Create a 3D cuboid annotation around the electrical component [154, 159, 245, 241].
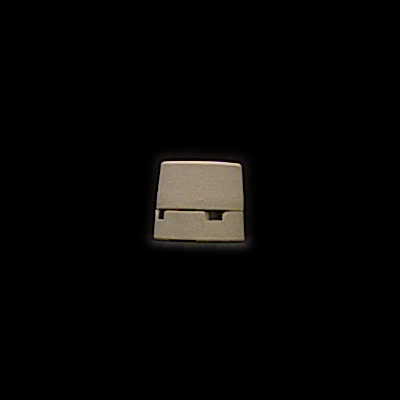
[{"bbox_3d":[0.000,0.000,0.652,0.055,0.047,0.055,2,0,0],"label":"electrical component"}]
